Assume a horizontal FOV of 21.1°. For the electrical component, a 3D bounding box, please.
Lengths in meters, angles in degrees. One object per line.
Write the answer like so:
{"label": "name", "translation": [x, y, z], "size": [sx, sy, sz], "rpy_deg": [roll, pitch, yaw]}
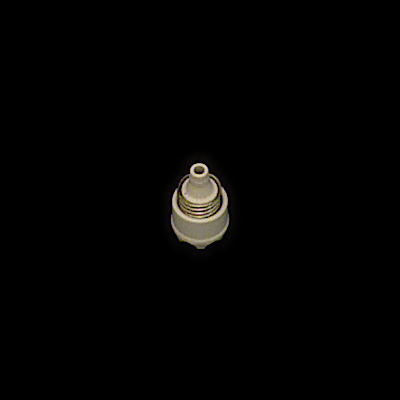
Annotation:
{"label": "electrical component", "translation": [0.000, 0.000, 0.640], "size": [0.035, 0.035, 0.062], "rpy_deg": [0, -36, 1]}
